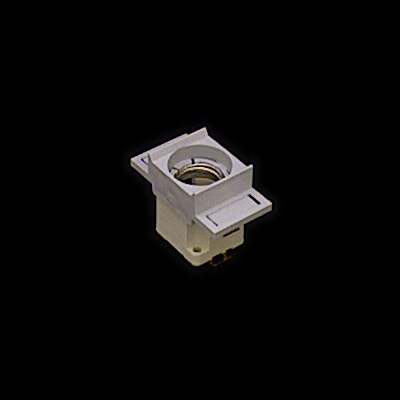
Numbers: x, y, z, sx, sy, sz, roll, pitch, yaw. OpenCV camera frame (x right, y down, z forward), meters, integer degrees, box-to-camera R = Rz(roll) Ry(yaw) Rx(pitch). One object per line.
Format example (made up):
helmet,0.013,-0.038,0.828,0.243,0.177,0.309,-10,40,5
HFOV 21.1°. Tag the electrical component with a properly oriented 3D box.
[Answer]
electrical component,0.000,0.000,0.630,0.042,0.064,0.080,-28,49,-27
